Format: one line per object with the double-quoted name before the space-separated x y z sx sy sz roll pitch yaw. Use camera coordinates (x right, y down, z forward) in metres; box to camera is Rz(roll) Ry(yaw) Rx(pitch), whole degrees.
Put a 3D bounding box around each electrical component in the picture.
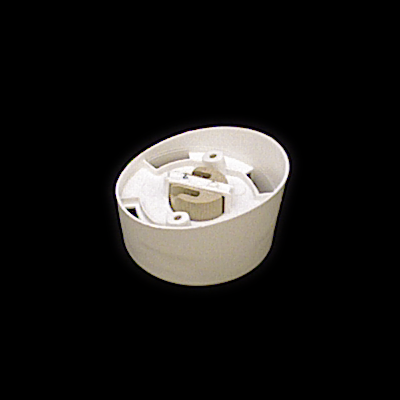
"electrical component" 0.000 0.000 0.629 0.099 0.065 0.098 1 41 -1
